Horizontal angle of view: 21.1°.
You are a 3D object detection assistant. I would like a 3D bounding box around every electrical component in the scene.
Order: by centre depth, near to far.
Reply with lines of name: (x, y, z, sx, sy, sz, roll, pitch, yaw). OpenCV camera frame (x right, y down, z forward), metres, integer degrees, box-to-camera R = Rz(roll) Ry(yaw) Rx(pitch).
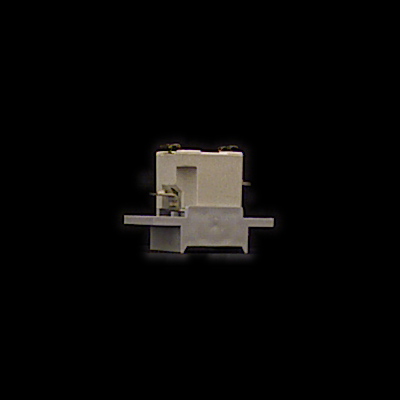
electrical component: (0.000, 0.000, 0.649, 0.081, 0.064, 0.042, 1, 1, -29)
